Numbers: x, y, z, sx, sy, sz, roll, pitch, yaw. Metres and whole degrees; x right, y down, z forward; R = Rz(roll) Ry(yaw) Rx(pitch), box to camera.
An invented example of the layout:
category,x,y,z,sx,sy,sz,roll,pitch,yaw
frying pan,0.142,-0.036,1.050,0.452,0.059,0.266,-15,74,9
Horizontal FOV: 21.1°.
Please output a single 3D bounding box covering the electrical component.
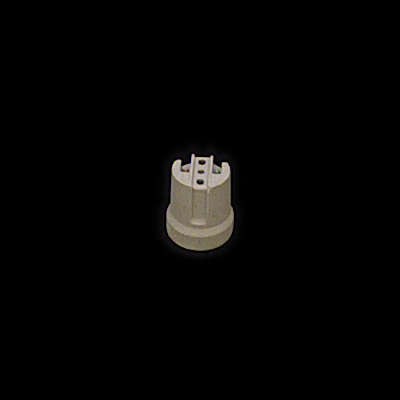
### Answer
category,x,y,z,sx,sy,sz,roll,pitch,yaw
electrical component,0.000,0.000,0.636,0.040,0.046,0.040,1,43,-1
